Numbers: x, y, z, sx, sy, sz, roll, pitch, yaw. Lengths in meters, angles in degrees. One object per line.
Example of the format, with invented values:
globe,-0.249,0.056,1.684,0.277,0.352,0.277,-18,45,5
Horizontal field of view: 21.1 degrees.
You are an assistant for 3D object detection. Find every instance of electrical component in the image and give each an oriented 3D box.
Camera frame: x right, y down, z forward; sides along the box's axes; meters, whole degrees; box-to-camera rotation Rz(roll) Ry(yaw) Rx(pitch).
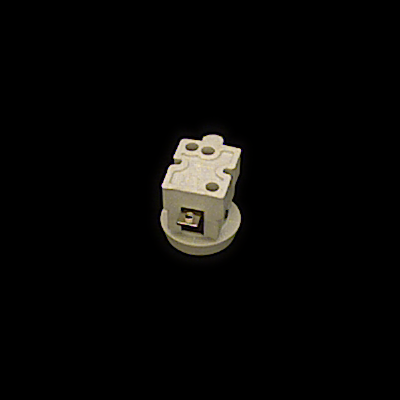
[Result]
electrical component,0.000,0.000,0.641,0.048,0.056,0.066,11,45,10
